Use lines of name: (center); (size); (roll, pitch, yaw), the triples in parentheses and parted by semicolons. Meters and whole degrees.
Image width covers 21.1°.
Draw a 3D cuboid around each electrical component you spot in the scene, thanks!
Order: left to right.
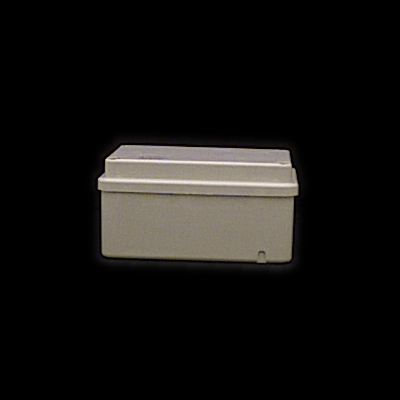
electrical component: (0.000, 0.000, 0.641); (0.113, 0.057, 0.077); (2, 10, 3)
